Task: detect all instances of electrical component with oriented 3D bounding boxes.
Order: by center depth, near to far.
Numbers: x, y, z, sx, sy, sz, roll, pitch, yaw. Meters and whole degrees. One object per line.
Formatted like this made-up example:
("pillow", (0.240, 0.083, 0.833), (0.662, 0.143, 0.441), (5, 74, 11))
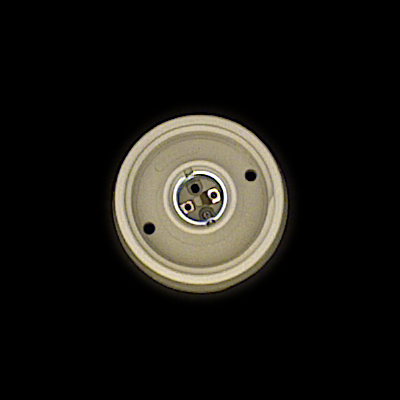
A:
("electrical component", (0.000, 0.000, 0.634), (0.108, 0.108, 0.060), (0, -6, 0))
